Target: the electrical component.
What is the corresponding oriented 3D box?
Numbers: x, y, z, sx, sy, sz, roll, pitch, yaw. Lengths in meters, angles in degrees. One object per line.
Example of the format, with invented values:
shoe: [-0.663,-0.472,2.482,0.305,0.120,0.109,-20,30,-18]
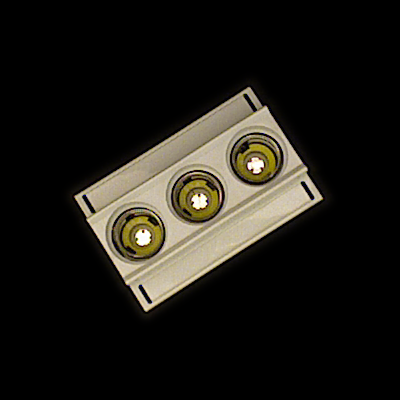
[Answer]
electrical component: [0.000,0.000,0.637,0.121,0.079,0.063,-32,-7,-3]
